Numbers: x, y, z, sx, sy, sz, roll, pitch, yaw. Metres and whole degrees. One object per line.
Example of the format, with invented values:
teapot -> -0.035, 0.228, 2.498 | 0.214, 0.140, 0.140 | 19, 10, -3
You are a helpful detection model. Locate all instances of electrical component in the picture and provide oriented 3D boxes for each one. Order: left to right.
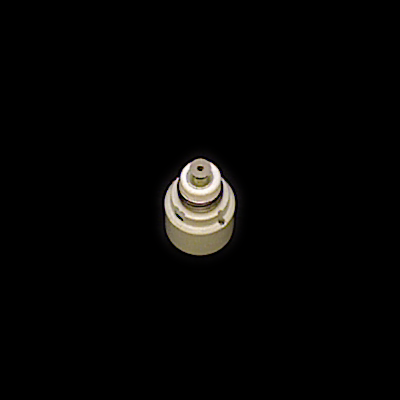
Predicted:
electrical component -> 0.000, 0.000, 0.619 | 0.040, 0.040, 0.078 | 0, -27, -1
